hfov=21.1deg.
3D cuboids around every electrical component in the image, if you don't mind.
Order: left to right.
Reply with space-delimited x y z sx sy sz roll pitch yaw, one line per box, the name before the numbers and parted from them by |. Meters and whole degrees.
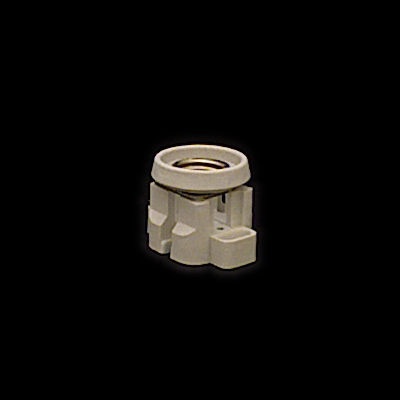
electrical component | 0.000 0.000 0.640 0.058 0.057 0.077 -16 27 -37
